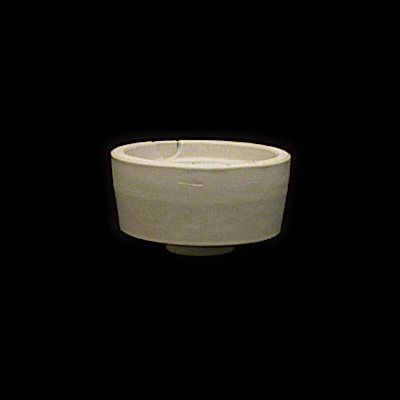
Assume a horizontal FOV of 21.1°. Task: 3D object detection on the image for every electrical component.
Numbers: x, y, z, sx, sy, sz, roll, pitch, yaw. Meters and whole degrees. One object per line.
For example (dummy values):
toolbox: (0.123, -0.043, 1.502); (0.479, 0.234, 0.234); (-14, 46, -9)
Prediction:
electrical component: (0.000, 0.000, 0.652); (0.108, 0.061, 0.107); (2, 11, 0)
